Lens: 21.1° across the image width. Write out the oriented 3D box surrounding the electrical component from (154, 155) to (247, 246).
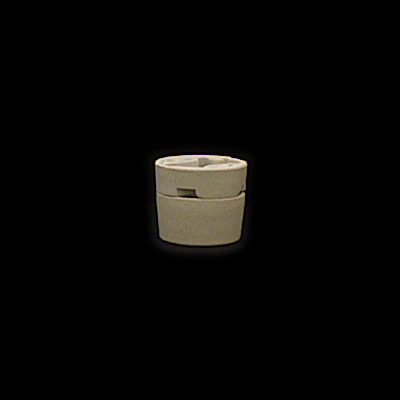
[{"bbox_3d":[0.000,0.000,0.644,0.055,0.047,0.055,1,10,0],"label":"electrical component"}]
